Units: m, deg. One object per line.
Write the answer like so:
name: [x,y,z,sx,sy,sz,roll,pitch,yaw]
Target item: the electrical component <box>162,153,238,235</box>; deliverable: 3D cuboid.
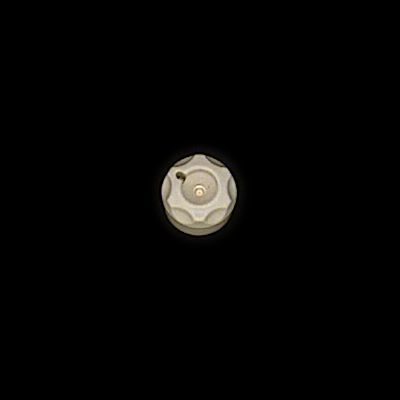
electrical component: [0.000,0.000,0.634,0.043,0.043,0.061,0,-16,-1]
